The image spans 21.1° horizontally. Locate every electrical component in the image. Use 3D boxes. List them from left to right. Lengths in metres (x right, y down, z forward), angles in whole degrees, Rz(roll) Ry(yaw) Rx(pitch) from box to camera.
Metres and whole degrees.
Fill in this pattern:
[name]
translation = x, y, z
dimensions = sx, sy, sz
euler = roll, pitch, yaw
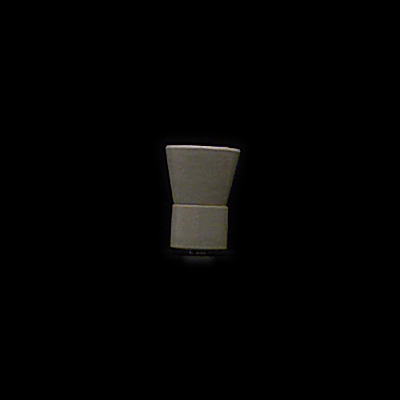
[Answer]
[electrical component]
translation = 0.000, 0.000, 0.650
dimensions = 0.044, 0.065, 0.044
euler = 2, 1, 0
